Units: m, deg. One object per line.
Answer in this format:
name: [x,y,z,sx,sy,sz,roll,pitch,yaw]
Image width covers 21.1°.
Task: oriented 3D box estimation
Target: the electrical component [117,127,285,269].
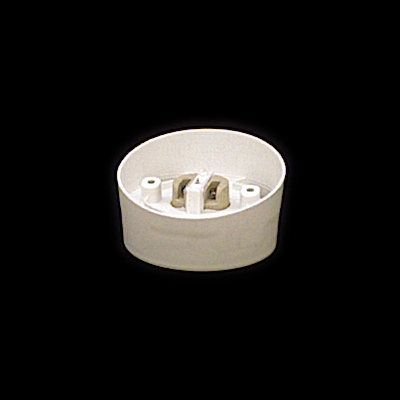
electrical component: [0.000,0.000,0.639,0.099,0.065,0.097,1,20,0]
